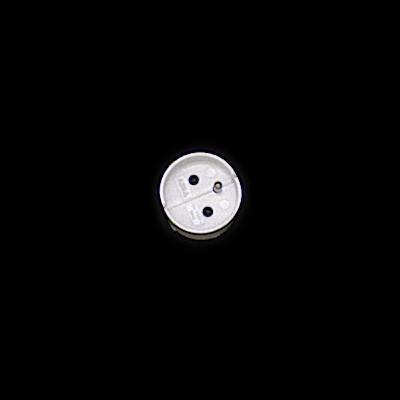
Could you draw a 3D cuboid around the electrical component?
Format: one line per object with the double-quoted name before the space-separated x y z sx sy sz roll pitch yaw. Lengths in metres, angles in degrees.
"electrical component" 0.000 0.000 0.616 0.043 0.043 0.080 0 -6 -1
